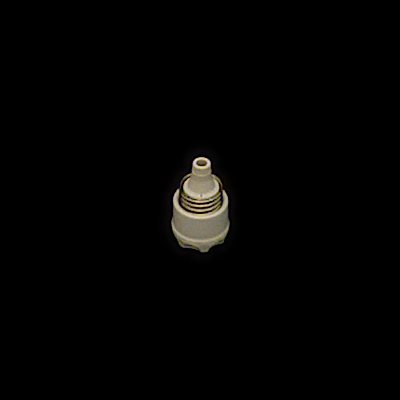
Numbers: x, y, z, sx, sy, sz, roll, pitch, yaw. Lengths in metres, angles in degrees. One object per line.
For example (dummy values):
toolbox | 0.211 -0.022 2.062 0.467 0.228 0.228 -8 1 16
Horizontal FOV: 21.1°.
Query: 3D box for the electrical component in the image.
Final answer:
electrical component | 0.000 0.000 0.644 0.035 0.062 0.034 1 44 -1
